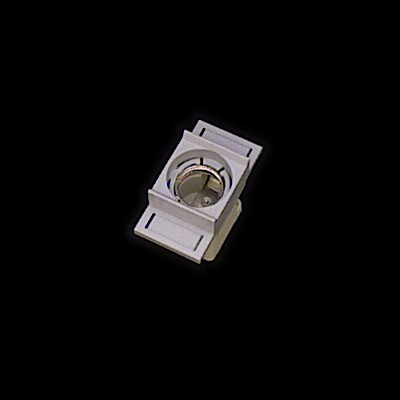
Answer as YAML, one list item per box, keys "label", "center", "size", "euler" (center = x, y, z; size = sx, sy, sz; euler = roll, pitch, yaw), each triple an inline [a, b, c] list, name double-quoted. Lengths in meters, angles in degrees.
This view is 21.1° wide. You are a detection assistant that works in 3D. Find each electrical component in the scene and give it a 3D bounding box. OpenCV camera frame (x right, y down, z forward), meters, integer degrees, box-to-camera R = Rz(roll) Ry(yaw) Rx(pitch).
- label: "electrical component"
  center: [0.000, 0.000, 0.625]
  size: [0.042, 0.081, 0.064]
  euler: [24, -24, 13]
